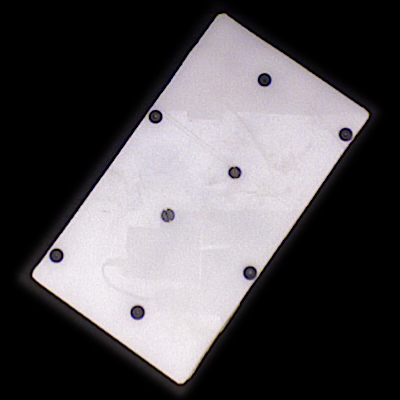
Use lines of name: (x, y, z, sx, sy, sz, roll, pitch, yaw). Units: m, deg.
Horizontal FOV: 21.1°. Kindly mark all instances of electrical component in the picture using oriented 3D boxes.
electrical component: (0.000, 0.000, 0.625, 0.105, 0.187, 0.060, 35, -5, 4)
